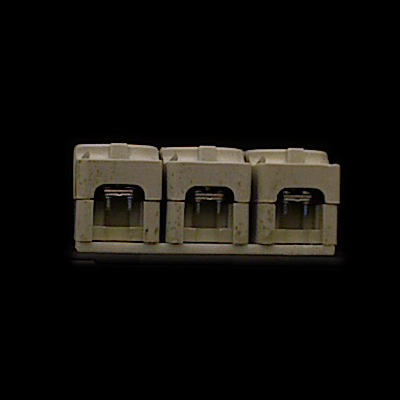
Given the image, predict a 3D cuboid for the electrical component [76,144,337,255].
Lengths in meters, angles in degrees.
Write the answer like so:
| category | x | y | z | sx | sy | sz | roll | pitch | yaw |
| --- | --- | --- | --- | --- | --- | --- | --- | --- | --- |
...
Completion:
| category | x | y | z | sx | sy | sz | roll | pitch | yaw |
| --- | --- | --- | --- | --- | --- | --- | --- | --- | --- |
| electrical component | 0.000 | 0.000 | 0.655 | 0.150 | 0.062 | 0.089 | 1 | 0 | -8 |
